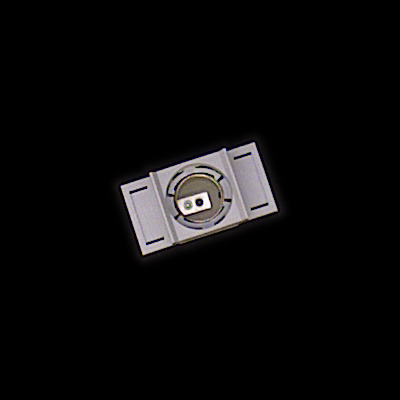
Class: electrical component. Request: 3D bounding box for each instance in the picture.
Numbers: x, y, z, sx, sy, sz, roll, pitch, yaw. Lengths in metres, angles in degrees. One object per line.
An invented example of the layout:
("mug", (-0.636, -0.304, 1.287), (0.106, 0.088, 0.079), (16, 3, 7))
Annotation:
("electrical component", (0.000, 0.000, 0.624), (0.081, 0.042, 0.063), (-18, -5, -2))
